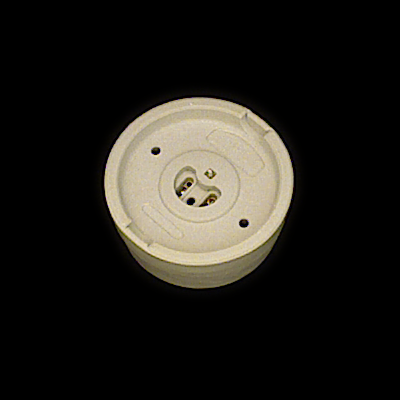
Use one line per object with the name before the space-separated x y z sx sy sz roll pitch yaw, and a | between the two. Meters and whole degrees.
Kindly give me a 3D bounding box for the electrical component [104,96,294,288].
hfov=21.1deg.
electrical component | 0.000 0.000 0.636 0.108 0.107 0.060 0 -27 0
